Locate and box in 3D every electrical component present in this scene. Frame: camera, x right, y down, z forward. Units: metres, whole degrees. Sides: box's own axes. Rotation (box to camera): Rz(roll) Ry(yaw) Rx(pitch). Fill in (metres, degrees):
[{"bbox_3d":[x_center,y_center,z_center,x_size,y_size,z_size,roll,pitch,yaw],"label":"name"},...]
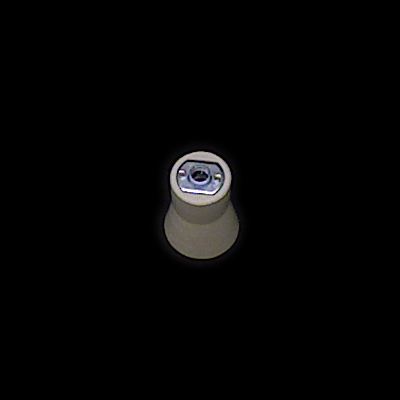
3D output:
[{"bbox_3d":[0.000,0.000,0.626,0.044,0.044,0.065,0,-28,0],"label":"electrical component"}]
